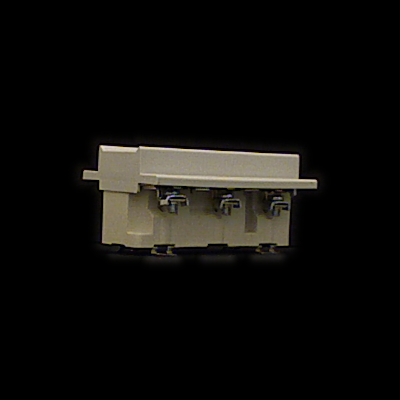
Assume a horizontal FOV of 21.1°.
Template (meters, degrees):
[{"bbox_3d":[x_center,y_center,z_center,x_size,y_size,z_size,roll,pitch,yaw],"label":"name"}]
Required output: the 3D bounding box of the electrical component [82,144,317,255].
[{"bbox_3d":[0.000,0.000,0.662,0.122,0.063,0.078,1,2,-37],"label":"electrical component"}]
